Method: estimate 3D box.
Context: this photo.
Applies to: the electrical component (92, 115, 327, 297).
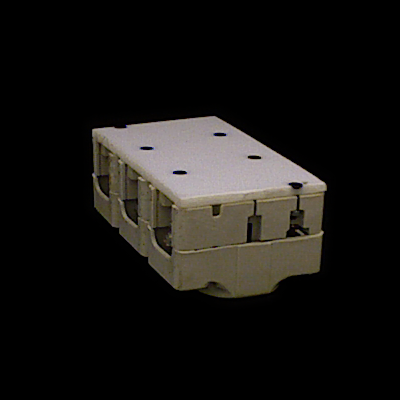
[{"bbox_3d":[0.000,0.000,0.646,0.089,0.063,0.147,-7,21,-22],"label":"electrical component"}]
